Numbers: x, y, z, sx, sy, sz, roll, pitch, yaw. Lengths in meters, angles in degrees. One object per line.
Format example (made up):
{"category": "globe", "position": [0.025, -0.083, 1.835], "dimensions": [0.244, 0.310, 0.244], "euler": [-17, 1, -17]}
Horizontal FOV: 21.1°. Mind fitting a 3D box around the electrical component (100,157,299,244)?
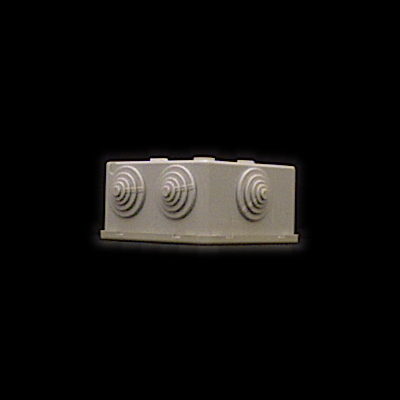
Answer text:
{"category": "electrical component", "position": [0.000, 0.000, 0.650], "dimensions": [0.099, 0.048, 0.100], "euler": [1, 0, 43]}
